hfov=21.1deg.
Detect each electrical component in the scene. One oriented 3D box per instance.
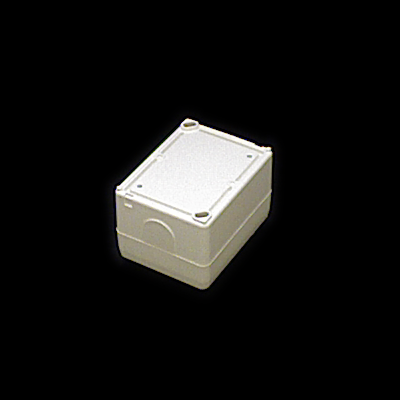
[{"bbox_3d":[0.000,0.000,0.636,0.061,0.062,0.095,21,46,23],"label":"electrical component"}]
